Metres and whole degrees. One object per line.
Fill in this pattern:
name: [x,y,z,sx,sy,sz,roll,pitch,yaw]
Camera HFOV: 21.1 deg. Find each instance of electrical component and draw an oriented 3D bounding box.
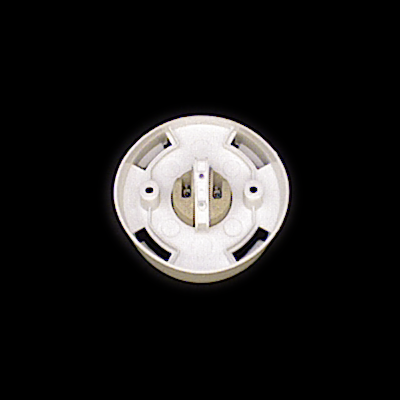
electrical component: [0.000,0.000,0.623,0.099,0.099,0.064,0,-16,0]
